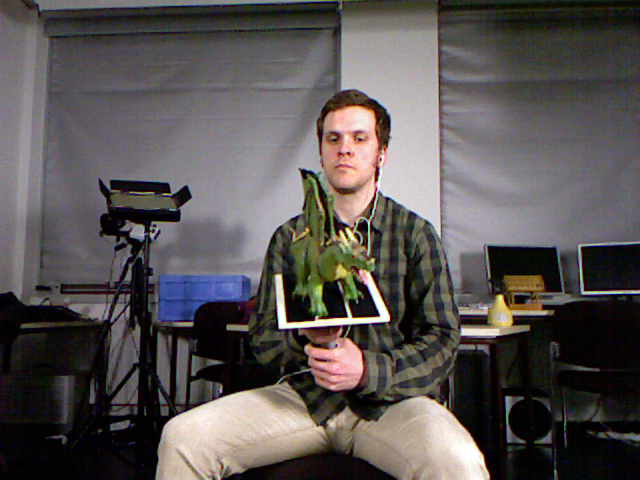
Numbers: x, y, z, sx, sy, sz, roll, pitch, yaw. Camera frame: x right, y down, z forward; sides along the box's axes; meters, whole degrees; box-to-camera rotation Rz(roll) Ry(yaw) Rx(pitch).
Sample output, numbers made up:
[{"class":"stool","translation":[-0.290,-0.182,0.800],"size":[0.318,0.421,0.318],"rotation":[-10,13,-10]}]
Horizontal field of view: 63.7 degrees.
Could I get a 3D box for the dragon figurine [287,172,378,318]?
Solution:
[{"class":"dragon figurine","translation":[-0.006,-0.014,0.973],"size":[0.123,0.238,0.417],"rotation":[-12,29,-20]}]
